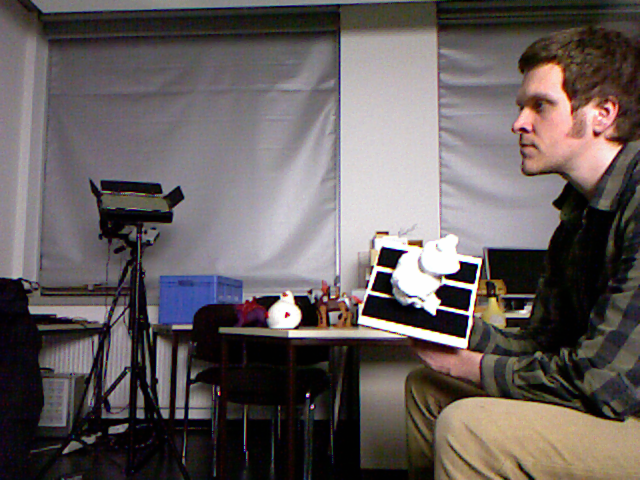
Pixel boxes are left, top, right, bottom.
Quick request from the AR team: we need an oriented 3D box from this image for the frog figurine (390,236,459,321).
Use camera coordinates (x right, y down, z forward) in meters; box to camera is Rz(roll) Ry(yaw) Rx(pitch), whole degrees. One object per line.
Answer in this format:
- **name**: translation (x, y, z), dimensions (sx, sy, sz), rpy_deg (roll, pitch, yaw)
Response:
- **frog figurine**: translation (0.192, 0.054, 0.957), dimensions (0.124, 0.140, 0.156), rpy_deg (28, -30, 25)
